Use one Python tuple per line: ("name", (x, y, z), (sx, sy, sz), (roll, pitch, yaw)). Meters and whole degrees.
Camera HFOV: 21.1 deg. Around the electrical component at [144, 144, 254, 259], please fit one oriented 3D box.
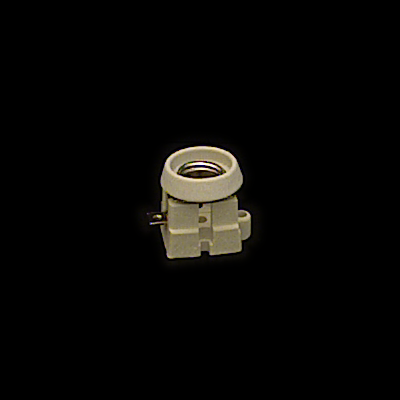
("electrical component", (0.000, 0.000, 0.642), (0.067, 0.056, 0.047), (-6, 31, -11))
